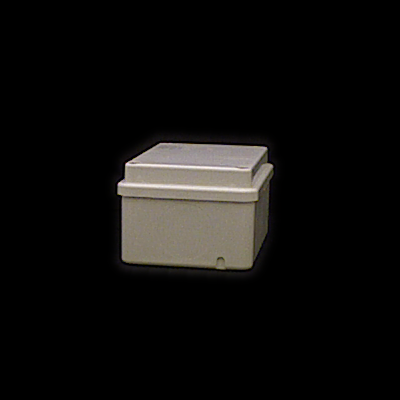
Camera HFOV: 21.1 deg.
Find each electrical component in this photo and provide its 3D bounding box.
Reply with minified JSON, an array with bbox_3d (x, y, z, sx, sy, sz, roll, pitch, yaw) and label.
[{"bbox_3d":[0.000,0.000,0.644,0.078,0.057,0.112,3,11,8],"label":"electrical component"}]
